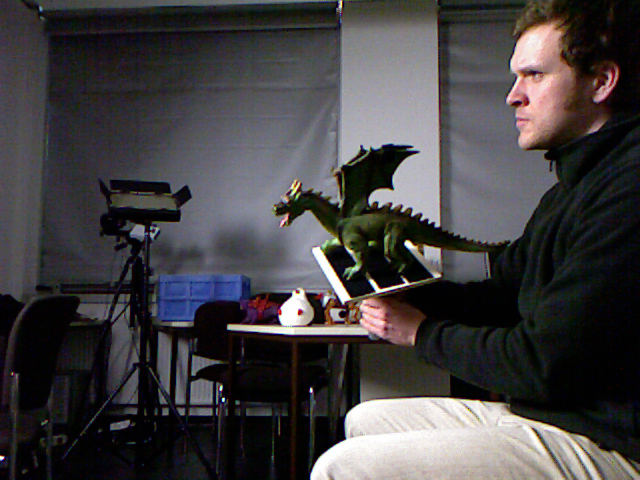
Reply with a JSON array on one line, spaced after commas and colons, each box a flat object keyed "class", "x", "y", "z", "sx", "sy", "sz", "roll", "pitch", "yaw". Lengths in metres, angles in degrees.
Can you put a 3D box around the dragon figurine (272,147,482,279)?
[{"class": "dragon figurine", "x": 0.115, "y": -0.060, "z": 0.991, "sx": 0.412, "sy": 0.238, "sz": 0.125, "roll": -7, "pitch": 33, "yaw": -3}]
